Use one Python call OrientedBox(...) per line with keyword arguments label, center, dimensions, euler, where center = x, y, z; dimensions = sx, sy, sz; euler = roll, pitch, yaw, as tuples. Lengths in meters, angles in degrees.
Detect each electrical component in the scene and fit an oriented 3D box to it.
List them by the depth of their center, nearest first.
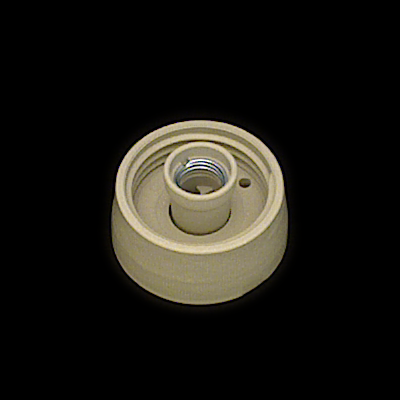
OrientedBox(label="electrical component", center=(0.000, 0.000, 0.635), dimensions=(0.108, 0.107, 0.060), euler=(0, -37, -1))
